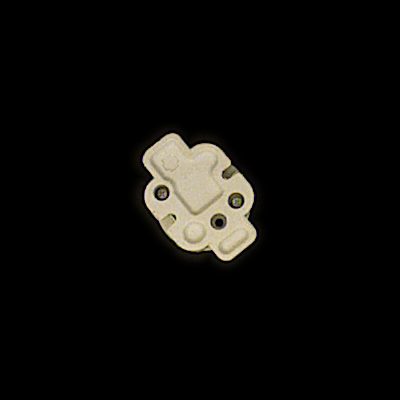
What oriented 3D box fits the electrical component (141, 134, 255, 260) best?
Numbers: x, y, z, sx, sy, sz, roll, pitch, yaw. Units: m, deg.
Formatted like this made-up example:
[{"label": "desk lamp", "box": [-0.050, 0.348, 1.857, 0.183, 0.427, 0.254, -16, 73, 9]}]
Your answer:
[{"label": "electrical component", "box": [0.000, 0.000, 0.637, 0.058, 0.078, 0.056, -40, -6, -2]}]
